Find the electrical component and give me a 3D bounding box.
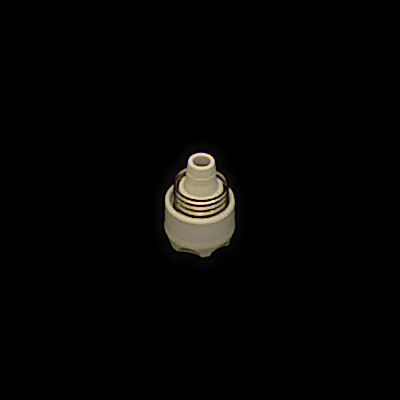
[{"bbox_3d":[0.000,0.000,0.638,0.043,0.062,0.043,1,42,-1],"label":"electrical component"}]
